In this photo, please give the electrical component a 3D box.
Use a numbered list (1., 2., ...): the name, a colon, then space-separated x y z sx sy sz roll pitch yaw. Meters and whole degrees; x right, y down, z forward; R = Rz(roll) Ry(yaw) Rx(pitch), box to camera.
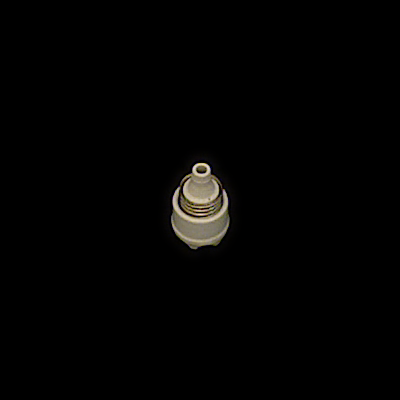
1. electrical component: 0.000 0.000 0.640 0.035 0.035 0.062 0 -37 -2
